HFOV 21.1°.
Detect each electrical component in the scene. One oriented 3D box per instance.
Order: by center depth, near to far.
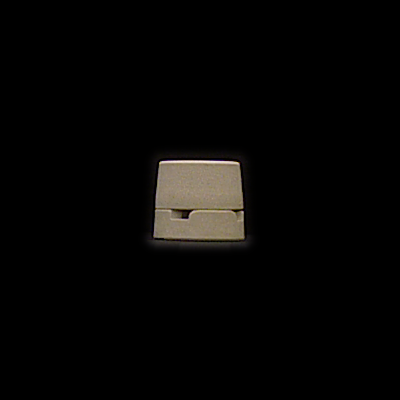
[{"bbox_3d":[0.000,0.000,0.649,0.055,0.047,0.055,0,1,0],"label":"electrical component"}]
